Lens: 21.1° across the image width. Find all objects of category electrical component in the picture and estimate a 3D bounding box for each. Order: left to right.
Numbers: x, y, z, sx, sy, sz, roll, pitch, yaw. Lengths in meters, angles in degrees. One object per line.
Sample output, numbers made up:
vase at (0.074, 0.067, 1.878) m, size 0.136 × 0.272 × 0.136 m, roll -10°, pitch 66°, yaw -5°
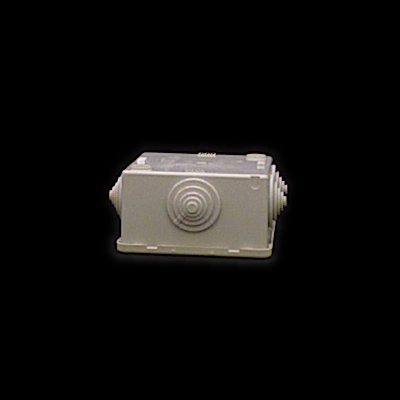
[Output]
electrical component at (0.000, 0.000, 0.644) m, size 0.100 × 0.049 × 0.099 m, roll 2°, pitch 10°, yaw 5°
